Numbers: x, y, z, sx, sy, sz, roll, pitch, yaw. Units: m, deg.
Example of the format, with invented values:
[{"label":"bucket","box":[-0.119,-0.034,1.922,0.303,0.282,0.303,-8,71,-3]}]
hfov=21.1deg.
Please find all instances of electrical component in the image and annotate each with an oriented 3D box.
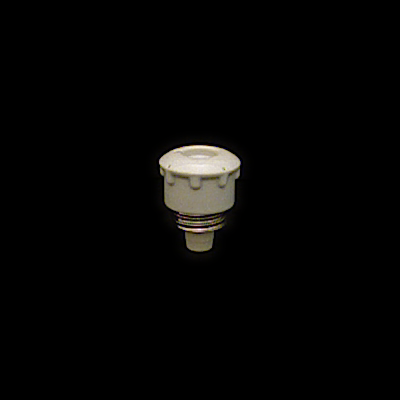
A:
[{"label":"electrical component","box":[0.000,0.000,0.643,0.048,0.062,0.047,1,21,0]}]
